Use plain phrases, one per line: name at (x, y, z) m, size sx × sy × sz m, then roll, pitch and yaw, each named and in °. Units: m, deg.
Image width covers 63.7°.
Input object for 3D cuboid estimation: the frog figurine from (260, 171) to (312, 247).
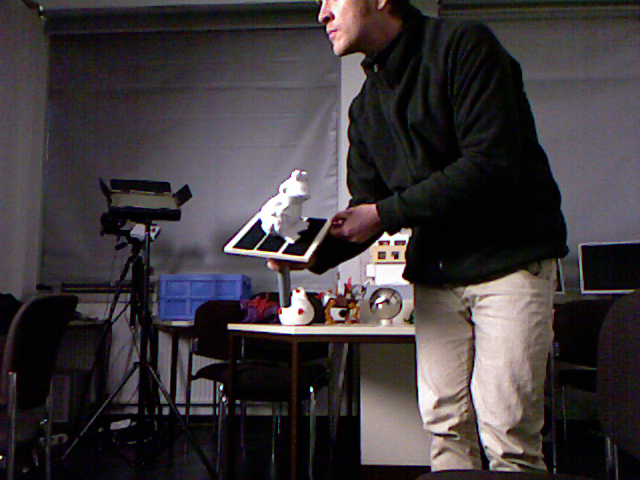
frog figurine at (-0.080, -0.084, 1.191) m, size 0.124 × 0.156 × 0.139 m, roll 21°, pitch 36°, yaw 35°
